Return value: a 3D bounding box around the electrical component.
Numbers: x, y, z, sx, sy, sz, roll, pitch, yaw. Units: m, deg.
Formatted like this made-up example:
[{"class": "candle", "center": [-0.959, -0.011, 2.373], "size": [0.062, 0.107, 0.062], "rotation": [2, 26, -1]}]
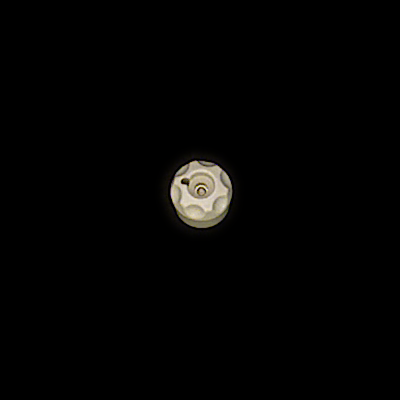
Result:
[{"class": "electrical component", "center": [0.000, 0.000, 0.634], "size": [0.035, 0.035, 0.061], "rotation": [0, -16, 1]}]
